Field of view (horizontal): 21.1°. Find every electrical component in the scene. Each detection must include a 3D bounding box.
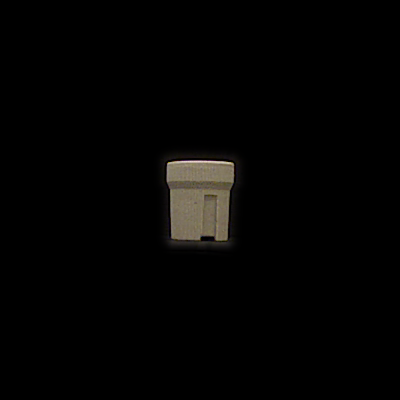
[{"bbox_3d":[0.000,0.000,0.651,0.040,0.046,0.040,1,1,1],"label":"electrical component"}]
